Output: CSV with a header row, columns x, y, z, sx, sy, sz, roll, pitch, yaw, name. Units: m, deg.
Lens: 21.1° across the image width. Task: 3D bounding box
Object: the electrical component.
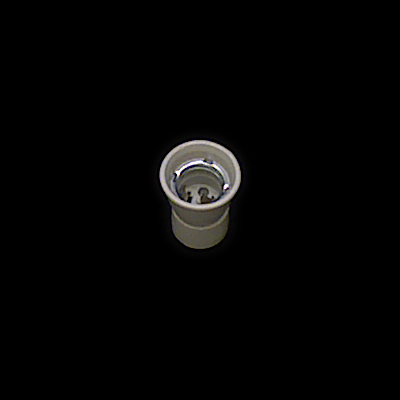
x,y,z,sx,sy,sz,roll,pitch,yaw,name
0.000,0.000,0.626,0.044,0.044,0.065,0,-28,0,electrical component
